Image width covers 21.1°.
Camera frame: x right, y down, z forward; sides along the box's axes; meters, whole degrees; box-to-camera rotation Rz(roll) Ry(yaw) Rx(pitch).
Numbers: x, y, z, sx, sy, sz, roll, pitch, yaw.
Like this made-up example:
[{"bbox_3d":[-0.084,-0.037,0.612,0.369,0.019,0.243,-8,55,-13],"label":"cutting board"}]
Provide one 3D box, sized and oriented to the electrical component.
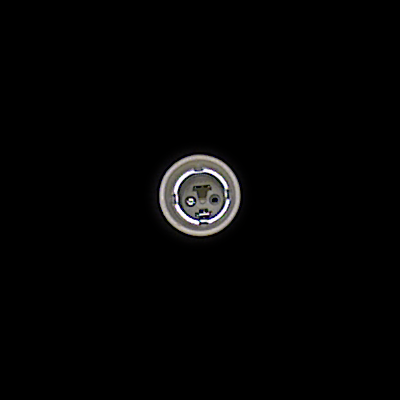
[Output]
[{"bbox_3d":[0.000,0.000,0.625,0.044,0.044,0.065,0,-6,2],"label":"electrical component"}]
